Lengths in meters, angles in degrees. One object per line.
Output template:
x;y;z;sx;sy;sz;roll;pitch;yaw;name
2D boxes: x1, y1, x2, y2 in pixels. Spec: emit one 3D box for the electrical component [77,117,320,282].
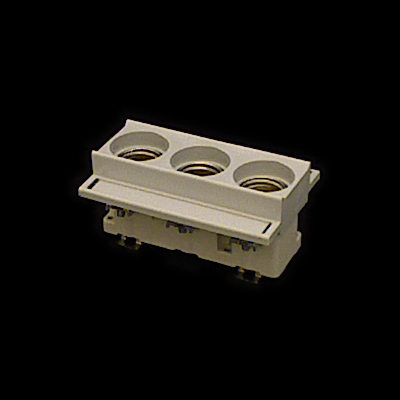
0.000;0.000;0.645;0.121;0.064;0.078;15;36;22;electrical component
